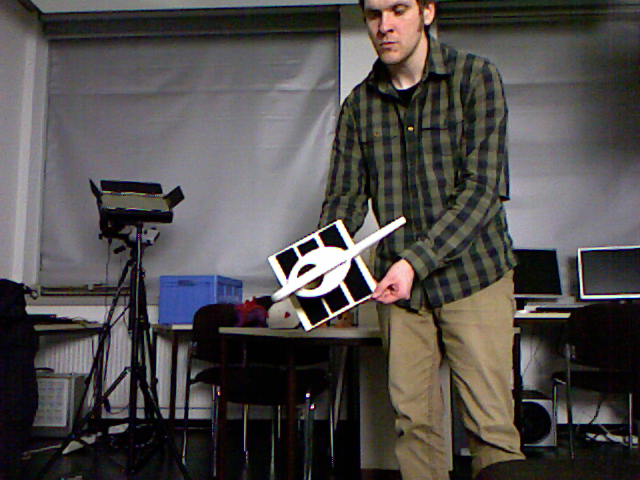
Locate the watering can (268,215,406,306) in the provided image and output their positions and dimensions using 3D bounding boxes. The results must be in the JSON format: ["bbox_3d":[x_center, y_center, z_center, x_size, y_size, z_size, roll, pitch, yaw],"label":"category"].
[{"bbox_3d":[0.041,0.053,1.173,0.348,0.105,0.224,-31,-6,2],"label":"watering can"}]
